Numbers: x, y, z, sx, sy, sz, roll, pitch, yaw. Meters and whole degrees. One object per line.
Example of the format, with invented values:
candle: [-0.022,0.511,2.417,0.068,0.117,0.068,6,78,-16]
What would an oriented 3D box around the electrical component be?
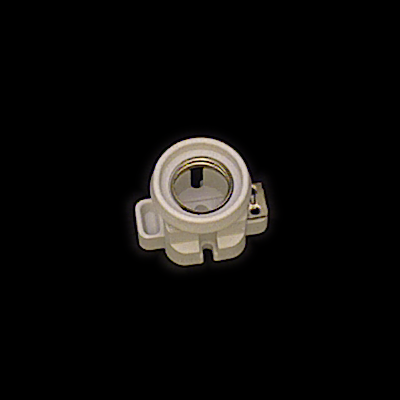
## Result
electrical component: [0.000,0.000,0.629,0.078,0.058,0.057,-8,-27,-5]
